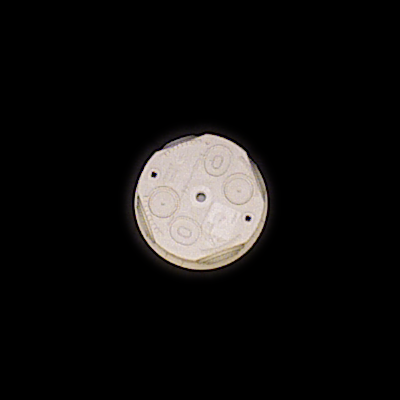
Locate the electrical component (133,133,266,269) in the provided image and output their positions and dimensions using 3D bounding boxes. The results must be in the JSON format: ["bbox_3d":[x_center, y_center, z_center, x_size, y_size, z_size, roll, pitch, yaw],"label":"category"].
[{"bbox_3d":[0.000,0.000,0.633,0.080,0.080,0.050,0,-7,0],"label":"electrical component"}]
